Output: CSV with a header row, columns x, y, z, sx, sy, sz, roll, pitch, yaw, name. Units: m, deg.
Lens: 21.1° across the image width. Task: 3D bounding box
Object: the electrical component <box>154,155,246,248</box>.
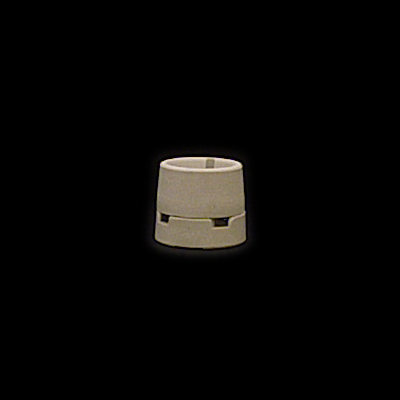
x,y,z,sx,sy,sz,roll,pitch,yaw,name
0.000,0.000,0.644,0.055,0.047,0.055,1,12,0,electrical component
